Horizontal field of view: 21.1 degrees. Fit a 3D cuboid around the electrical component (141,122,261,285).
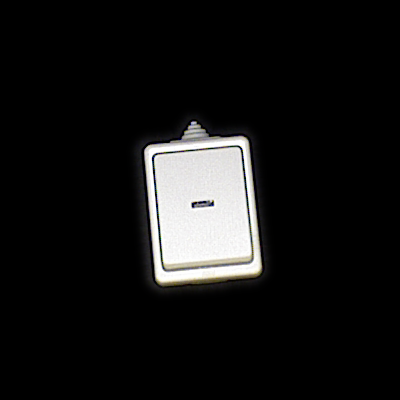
[{"bbox_3d":[0.000,0.000,0.627,0.062,0.096,0.061,-6,-7,0],"label":"electrical component"}]
